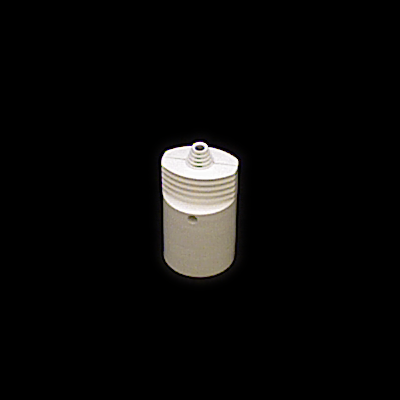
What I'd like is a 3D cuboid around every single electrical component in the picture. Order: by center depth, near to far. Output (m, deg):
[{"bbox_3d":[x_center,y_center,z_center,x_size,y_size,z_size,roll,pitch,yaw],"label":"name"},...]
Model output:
[{"bbox_3d":[0.000,0.000,0.623,0.043,0.082,0.042,0,42,0],"label":"electrical component"}]
